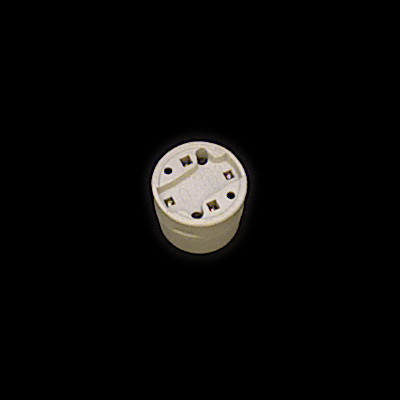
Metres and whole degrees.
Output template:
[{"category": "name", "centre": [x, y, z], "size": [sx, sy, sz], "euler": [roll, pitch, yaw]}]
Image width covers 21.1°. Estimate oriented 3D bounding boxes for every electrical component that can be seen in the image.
[{"category": "electrical component", "centre": [0.000, 0.000, 0.635], "size": [0.055, 0.056, 0.047], "euler": [0, -27, 0]}]
